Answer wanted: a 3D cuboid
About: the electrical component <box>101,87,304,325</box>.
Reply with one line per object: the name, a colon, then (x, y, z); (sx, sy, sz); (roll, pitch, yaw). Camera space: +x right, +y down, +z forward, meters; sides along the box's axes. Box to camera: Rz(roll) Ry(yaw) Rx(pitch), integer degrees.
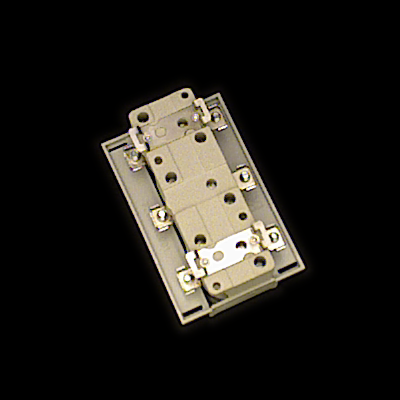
electrical component: (0.000, 0.000, 0.633); (0.079, 0.121, 0.062); (-24, -15, -5)
